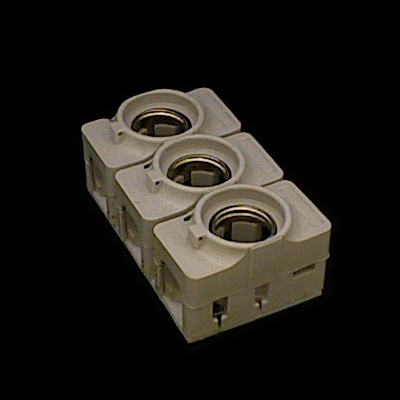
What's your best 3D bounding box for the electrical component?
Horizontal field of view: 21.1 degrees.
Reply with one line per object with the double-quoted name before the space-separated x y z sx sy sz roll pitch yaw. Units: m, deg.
"electrical component" 0.000 0.000 0.635 0.089 0.063 0.147 -19 45 -20
